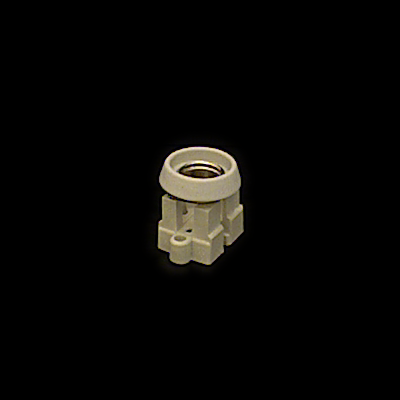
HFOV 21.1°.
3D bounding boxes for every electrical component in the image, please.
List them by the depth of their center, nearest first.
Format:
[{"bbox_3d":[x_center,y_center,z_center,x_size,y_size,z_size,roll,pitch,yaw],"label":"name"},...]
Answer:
[{"bbox_3d":[0.000,0.000,0.644,0.048,0.056,0.066,19,36,23],"label":"electrical component"}]
